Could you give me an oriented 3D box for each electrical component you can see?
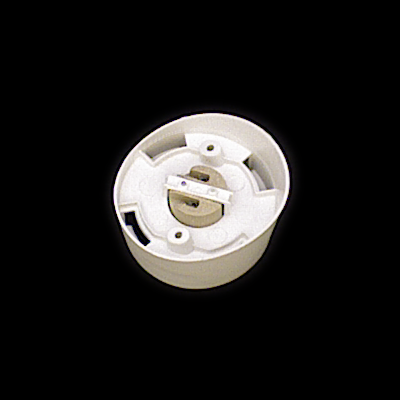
[{"bbox_3d":[0.000,0.000,0.625,0.099,0.099,0.064,0,-28,-1],"label":"electrical component"}]
